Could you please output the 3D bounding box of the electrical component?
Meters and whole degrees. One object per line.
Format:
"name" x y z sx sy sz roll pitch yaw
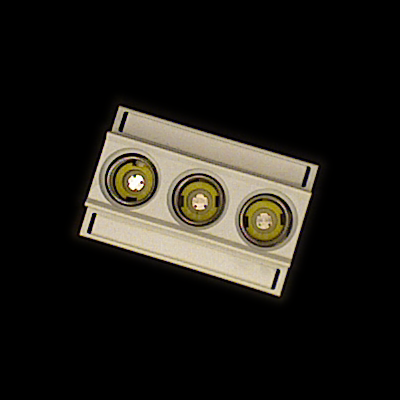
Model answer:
"electrical component" 0.000 0.000 0.637 0.121 0.079 0.063 17 -4 2
